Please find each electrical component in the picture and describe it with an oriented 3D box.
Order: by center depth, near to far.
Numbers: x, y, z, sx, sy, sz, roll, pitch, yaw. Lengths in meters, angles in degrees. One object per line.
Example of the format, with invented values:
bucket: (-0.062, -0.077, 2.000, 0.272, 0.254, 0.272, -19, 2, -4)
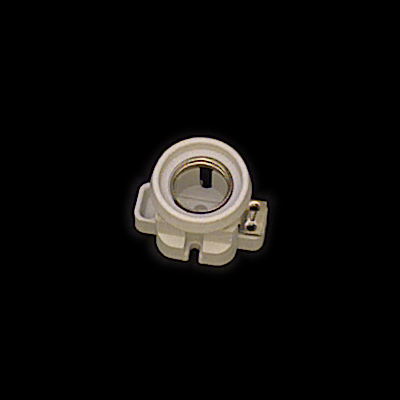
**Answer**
electrical component: (0.000, 0.000, 0.629, 0.078, 0.058, 0.057, 9, -27, 5)
